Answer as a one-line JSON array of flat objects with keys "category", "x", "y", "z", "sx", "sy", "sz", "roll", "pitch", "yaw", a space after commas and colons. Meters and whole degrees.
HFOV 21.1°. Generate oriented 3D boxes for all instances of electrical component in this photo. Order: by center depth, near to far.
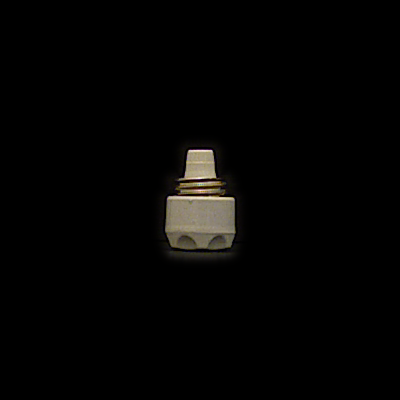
[{"category": "electrical component", "x": 0.000, "y": 0.000, "z": 0.656, "sx": 0.043, "sy": 0.062, "sz": 0.043, "roll": 0, "pitch": 2, "yaw": 1}]
